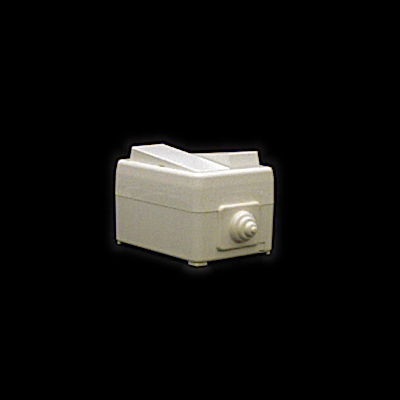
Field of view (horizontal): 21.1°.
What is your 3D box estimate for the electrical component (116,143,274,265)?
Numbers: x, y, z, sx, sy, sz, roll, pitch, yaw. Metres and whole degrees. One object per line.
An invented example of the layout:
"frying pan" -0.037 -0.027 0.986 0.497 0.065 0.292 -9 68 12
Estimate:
"electrical component" 0.000 0.000 0.642 0.061 0.061 0.096 -8 13 -39
